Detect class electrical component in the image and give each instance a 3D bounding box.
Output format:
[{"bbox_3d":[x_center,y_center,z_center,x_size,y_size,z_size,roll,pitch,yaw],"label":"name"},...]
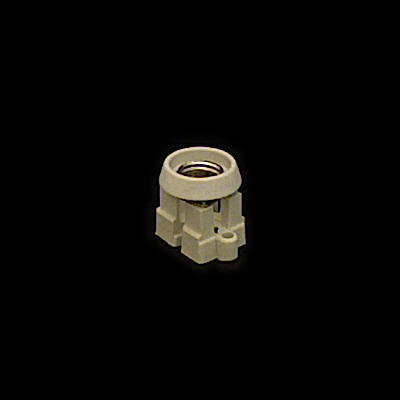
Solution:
[{"bbox_3d":[0.000,0.000,0.643,0.049,0.056,0.065,-23,40,-36],"label":"electrical component"}]
